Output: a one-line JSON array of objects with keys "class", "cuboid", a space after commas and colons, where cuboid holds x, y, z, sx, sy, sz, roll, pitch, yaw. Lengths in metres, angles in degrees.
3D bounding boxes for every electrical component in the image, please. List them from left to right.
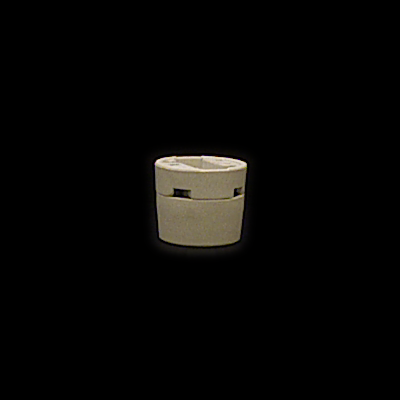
[{"class": "electrical component", "cuboid": [0.000, 0.000, 0.645, 0.055, 0.047, 0.055, 1, 11, 0]}]
